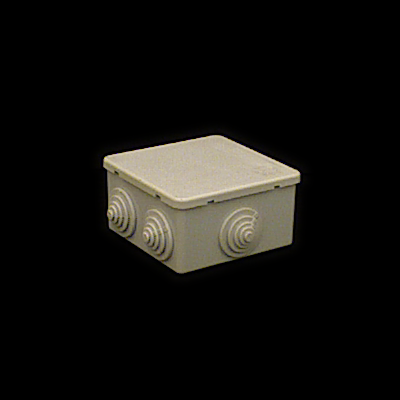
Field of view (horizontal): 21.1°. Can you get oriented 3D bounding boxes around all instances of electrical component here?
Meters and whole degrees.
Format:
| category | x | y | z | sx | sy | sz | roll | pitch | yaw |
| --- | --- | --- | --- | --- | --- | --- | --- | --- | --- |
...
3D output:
| category | x | y | z | sx | sy | sz | roll | pitch | yaw |
| --- | --- | --- | --- | --- | --- | --- | --- | --- | --- |
| electrical component | 0.000 | 0.000 | 0.649 | 0.100 | 0.049 | 0.098 | -13 | 26 | -32 |
